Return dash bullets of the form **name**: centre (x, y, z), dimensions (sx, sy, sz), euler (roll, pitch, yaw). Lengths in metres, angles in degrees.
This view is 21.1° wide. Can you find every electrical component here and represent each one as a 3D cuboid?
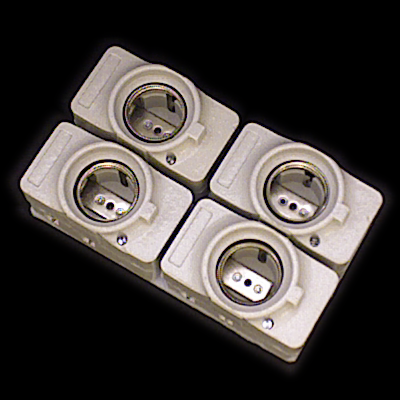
- **electrical component**: centre (0.000, 0.000, 0.626), dimensions (0.186, 0.106, 0.060), euler (30, -15, 8)
